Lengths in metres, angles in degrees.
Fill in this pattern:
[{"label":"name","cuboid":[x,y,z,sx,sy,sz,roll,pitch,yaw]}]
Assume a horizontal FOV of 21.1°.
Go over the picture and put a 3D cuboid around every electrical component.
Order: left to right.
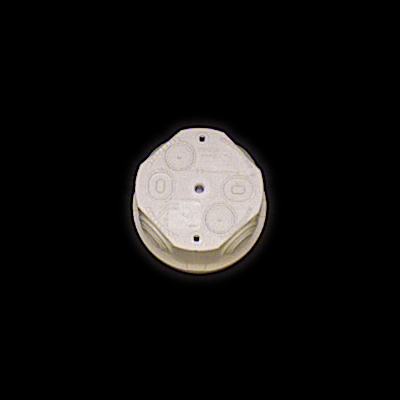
[{"label":"electrical component","cuboid":[0.000,0.000,0.631,0.080,0.080,0.050,0,-16,0]}]
